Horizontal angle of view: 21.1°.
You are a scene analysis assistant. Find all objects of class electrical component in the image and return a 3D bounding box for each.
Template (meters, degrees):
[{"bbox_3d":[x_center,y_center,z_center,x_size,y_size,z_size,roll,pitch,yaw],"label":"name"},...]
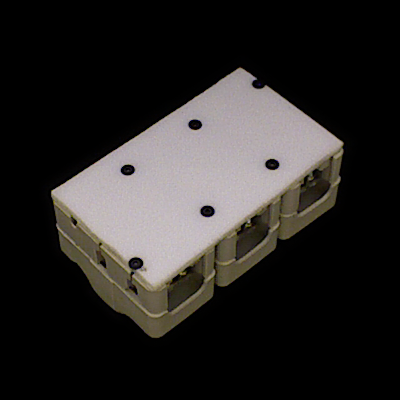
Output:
[{"bbox_3d":[0.000,0.000,0.635,0.149,0.063,0.088,-35,61,-25],"label":"electrical component"}]
